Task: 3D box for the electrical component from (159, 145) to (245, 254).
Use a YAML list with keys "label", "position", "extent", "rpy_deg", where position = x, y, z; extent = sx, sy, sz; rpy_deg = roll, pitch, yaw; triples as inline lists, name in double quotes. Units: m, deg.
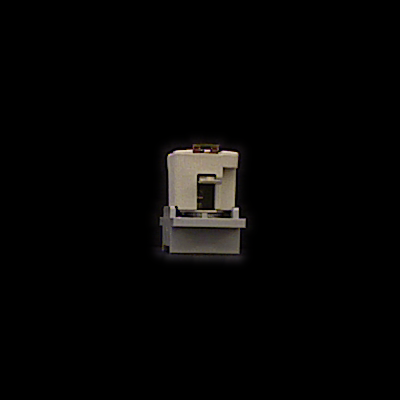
- label: "electrical component"
  position: [0.000, 0.000, 0.650]
  extent: [0.042, 0.064, 0.080]
  rpy_deg: [1, 1, -9]
